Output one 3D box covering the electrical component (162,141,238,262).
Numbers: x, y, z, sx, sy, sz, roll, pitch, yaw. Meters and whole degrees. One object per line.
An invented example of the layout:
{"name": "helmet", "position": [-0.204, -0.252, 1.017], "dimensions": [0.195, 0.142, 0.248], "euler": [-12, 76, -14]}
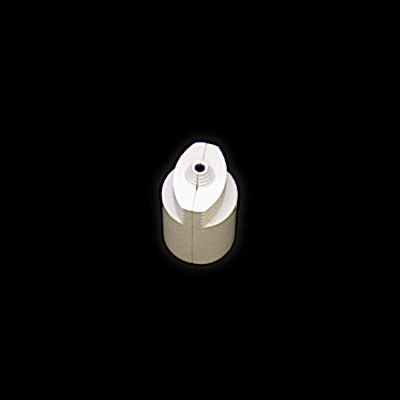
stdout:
{"name": "electrical component", "position": [0.000, 0.000, 0.617], "dimensions": [0.043, 0.043, 0.081], "euler": [0, -27, 0]}
